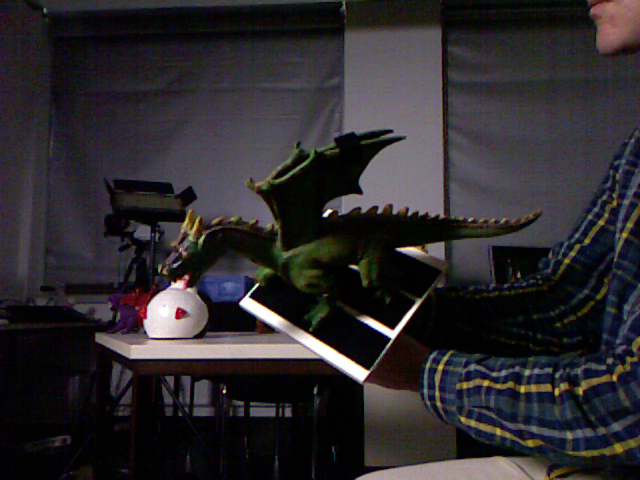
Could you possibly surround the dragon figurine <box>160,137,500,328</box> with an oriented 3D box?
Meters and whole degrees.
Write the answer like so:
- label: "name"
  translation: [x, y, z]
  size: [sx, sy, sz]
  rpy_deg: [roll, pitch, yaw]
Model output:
- label: "dragon figurine"
  translation: [0.025, -0.020, 0.588]
  size: [0.412, 0.125, 0.238]
  rpy_deg: [-20, -34, -4]
